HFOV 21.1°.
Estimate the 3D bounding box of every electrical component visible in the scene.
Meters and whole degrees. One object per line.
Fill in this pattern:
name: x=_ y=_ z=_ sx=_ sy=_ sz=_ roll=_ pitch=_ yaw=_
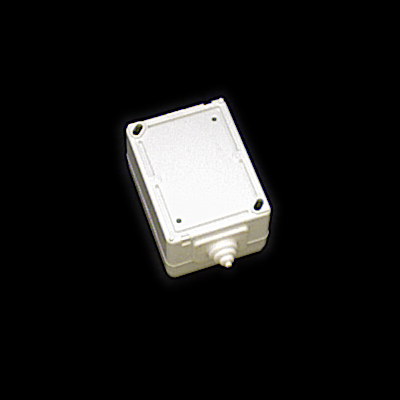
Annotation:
electrical component: x=-0.001 y=0.000 z=0.623 sx=0.062 sy=0.097 sz=0.060 roll=-17 pitch=-26 yaw=-9
